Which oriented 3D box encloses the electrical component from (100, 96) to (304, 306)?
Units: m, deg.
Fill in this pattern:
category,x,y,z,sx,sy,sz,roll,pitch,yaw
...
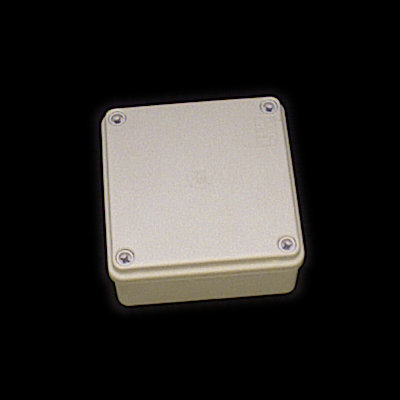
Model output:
category,x,y,z,sx,sy,sz,roll,pitch,yaw
electrical component,0.000,0.000,0.629,0.109,0.109,0.056,-4,-27,-2
